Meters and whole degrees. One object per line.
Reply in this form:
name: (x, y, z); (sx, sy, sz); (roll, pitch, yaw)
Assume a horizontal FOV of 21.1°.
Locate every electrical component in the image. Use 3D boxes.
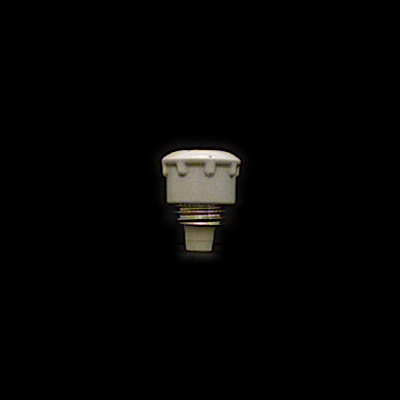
electrical component: (0.000, 0.000, 0.655); (0.048, 0.062, 0.048); (1, 2, 0)
